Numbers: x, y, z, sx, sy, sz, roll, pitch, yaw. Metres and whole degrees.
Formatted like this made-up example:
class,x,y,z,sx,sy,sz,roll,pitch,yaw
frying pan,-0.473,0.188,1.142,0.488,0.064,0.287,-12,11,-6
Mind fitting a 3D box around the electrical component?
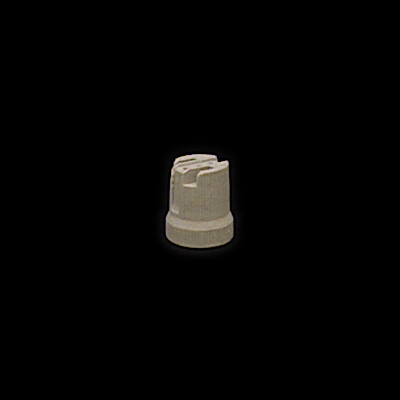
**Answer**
class,x,y,z,sx,sy,sz,roll,pitch,yaw
electrical component,0.000,0.000,0.642,0.040,0.046,0.040,1,21,0
